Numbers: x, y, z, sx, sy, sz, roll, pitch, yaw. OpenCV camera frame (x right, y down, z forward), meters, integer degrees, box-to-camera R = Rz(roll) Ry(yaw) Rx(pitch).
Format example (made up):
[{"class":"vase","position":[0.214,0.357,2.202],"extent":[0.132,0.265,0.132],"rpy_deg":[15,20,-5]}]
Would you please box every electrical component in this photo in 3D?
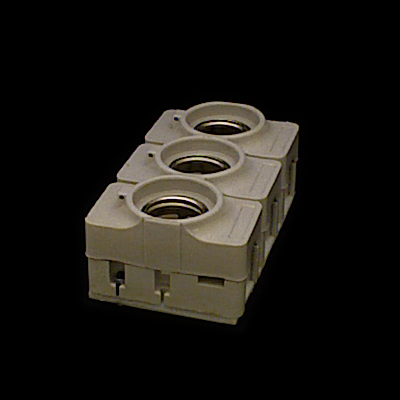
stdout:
[{"class":"electrical component","position":[0.000,0.000,0.640],"extent":[0.089,0.063,0.147],"rpy_deg":[8,31,13]}]
